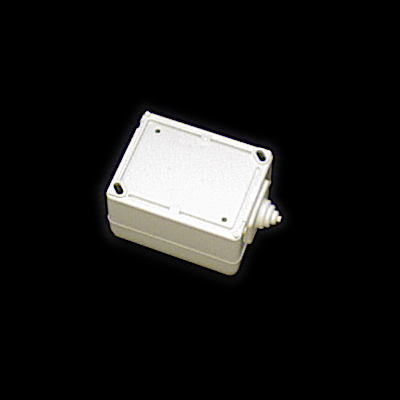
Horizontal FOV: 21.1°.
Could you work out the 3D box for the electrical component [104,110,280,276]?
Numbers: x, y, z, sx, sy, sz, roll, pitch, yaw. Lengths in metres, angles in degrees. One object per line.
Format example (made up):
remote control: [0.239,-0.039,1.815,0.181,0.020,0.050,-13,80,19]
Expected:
electrical component: [0.000,0.000,0.626,0.096,0.062,0.061,18,-27,10]
